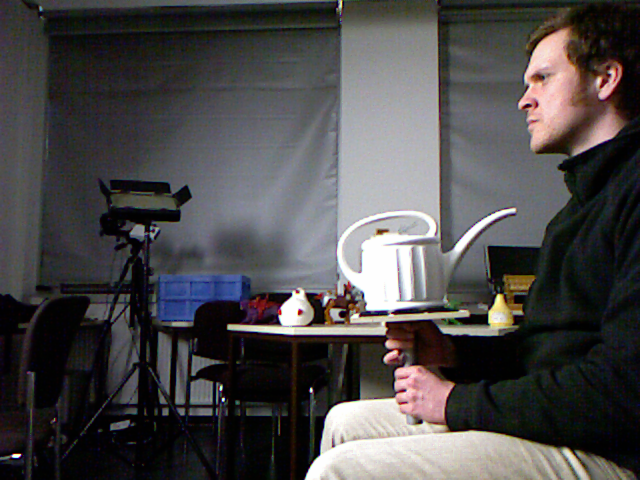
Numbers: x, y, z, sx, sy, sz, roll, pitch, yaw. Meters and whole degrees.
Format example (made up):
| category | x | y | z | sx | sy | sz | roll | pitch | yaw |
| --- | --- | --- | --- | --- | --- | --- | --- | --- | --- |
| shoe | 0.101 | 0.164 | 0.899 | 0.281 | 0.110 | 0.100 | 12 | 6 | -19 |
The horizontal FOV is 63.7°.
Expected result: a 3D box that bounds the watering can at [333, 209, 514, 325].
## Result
| category | x | y | z | sx | sy | sz | roll | pitch | yaw |
| --- | --- | --- | --- | --- | --- | --- | --- | --- | --- |
| watering can | 0.201 | 0.048 | 0.988 | 0.348 | 0.225 | 0.104 | -4 | -1 | 5 |
